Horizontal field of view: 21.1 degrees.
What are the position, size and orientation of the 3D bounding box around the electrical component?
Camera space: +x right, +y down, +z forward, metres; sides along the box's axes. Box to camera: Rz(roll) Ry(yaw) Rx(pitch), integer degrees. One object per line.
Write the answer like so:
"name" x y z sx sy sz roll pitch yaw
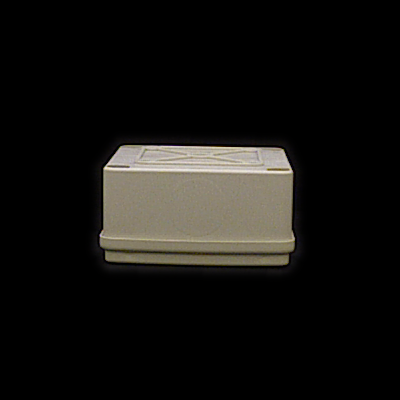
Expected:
"electrical component" 0.000 0.000 0.641 0.109 0.056 0.108 1 10 1
